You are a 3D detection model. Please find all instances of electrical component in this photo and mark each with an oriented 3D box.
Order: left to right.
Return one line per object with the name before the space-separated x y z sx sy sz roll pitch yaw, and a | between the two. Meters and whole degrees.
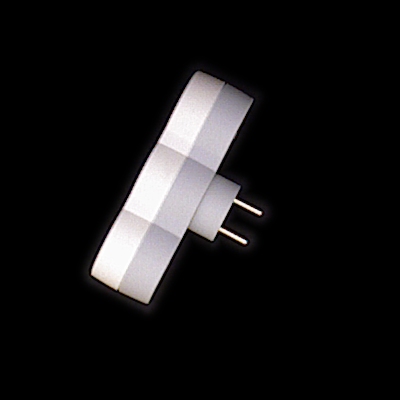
electrical component | 0.000 0.000 0.632 0.074 0.138 0.052 27 -7 1
